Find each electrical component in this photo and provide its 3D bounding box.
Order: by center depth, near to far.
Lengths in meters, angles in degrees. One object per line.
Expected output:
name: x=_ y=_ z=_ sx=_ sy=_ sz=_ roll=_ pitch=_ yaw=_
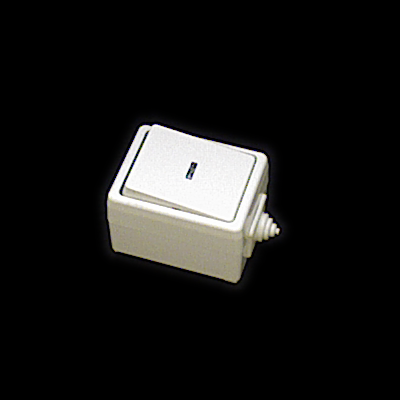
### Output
electrical component: x=0.000 y=0.000 z=0.627 sx=0.096 sy=0.061 sz=0.061 roll=14 pitch=-37 yaw=10
